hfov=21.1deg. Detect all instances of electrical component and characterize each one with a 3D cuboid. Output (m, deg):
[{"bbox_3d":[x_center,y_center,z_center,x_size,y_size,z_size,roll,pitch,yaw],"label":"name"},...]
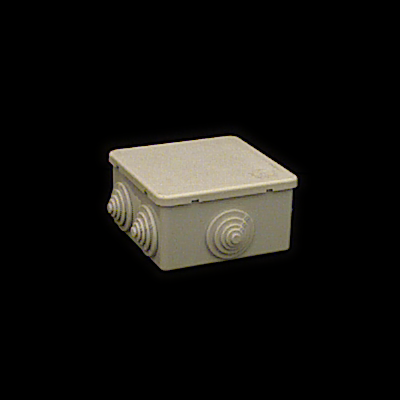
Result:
[{"bbox_3d":[0.000,0.000,0.648,0.100,0.049,0.098,-8,24,-23],"label":"electrical component"}]
